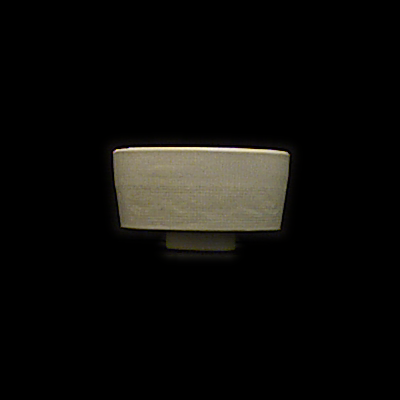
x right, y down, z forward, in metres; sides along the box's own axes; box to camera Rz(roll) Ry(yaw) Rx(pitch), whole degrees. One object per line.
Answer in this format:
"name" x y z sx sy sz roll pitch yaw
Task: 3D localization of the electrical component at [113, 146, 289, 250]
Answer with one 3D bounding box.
"electrical component" 0.000 0.000 0.660 0.108 0.060 0.108 1 1 0
